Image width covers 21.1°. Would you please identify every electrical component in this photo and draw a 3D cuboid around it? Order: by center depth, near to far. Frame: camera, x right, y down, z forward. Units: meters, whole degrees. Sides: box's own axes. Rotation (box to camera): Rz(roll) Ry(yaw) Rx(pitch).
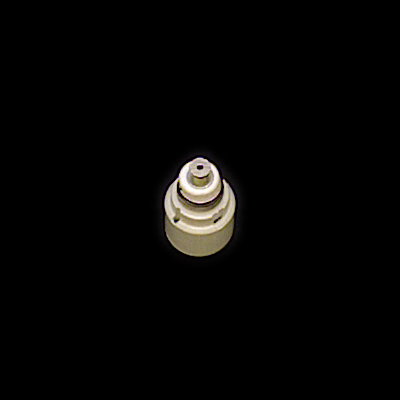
[{"bbox_3d":[0.000,0.000,0.618,0.040,0.040,0.078,0,-28,-1],"label":"electrical component"}]
